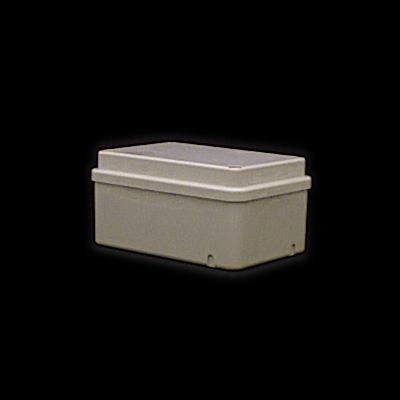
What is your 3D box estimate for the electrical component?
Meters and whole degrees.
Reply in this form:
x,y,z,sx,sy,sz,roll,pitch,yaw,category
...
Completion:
x,y,z,sx,sy,sz,roll,pitch,yaw,category
0.000,0.000,0.642,0.112,0.057,0.078,9,13,37,electrical component
